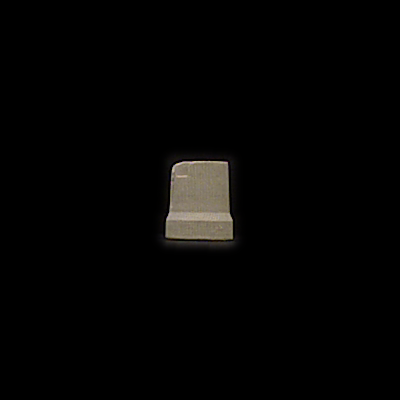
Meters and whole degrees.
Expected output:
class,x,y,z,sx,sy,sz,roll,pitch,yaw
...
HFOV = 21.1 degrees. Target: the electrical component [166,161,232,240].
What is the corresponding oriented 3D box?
class,x,y,z,sx,sy,sz,roll,pitch,yaw
electrical component,0.000,0.000,0.650,0.040,0.046,0.040,2,1,0
